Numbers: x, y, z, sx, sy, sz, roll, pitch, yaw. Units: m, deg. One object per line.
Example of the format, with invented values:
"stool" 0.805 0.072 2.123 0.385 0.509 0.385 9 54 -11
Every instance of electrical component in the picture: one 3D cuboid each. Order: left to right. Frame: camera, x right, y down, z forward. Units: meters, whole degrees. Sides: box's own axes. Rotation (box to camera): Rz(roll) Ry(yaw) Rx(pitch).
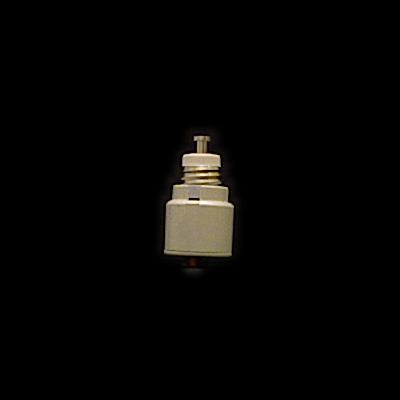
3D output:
"electrical component" 0.000 0.000 0.650 0.040 0.078 0.040 2 1 0
